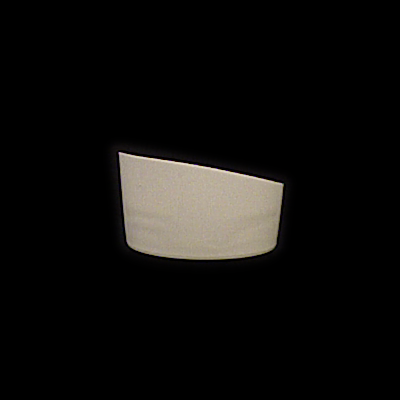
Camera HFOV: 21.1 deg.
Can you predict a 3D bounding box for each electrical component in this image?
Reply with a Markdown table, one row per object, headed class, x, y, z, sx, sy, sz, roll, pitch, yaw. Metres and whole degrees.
| class | x | y | z | sx | sy | sz | roll | pitch | yaw |
| --- | --- | --- | --- | --- | --- | --- | --- | --- | --- |
| electrical component | 0.000 | 0.000 | 0.642 | 0.099 | 0.064 | 0.098 | 1 | 11 | 0 |
